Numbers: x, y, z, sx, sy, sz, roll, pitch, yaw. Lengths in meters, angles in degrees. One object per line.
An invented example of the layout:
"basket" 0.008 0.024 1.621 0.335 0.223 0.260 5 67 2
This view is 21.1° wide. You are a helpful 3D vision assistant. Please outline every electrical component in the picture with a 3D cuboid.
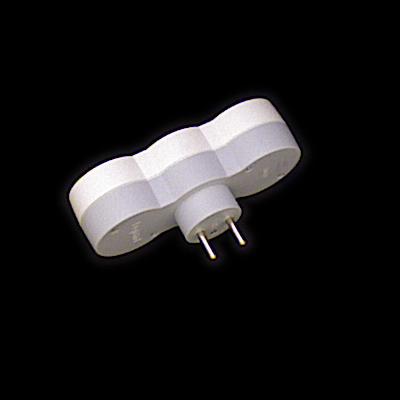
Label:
"electrical component" 0.000 0.000 0.631 0.138 0.074 0.052 -25 -22 -13
